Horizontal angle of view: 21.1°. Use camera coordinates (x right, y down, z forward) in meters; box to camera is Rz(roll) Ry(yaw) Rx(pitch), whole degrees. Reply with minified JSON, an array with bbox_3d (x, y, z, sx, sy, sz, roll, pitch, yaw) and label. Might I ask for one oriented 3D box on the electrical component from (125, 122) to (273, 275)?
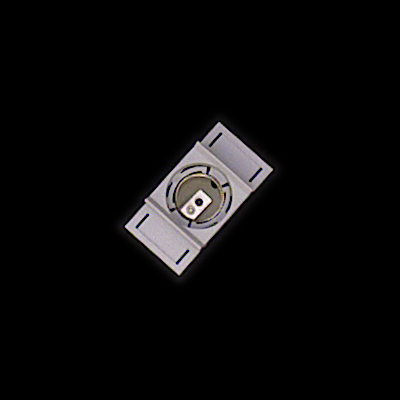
[{"bbox_3d":[0.000,0.000,0.624,0.042,0.081,0.063,42,-5,3],"label":"electrical component"}]
